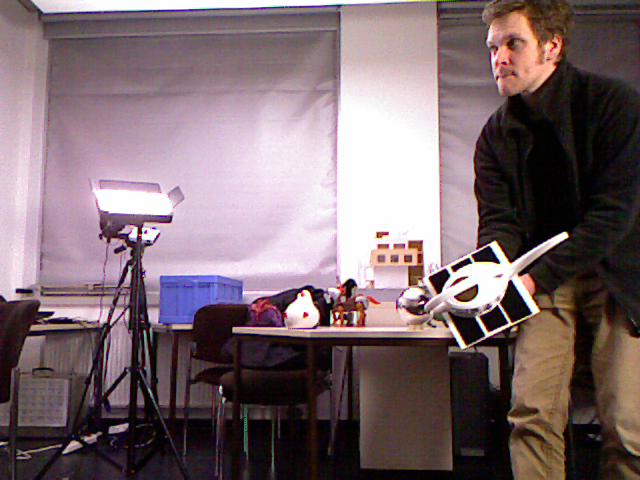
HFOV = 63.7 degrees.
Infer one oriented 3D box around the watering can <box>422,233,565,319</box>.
[{"bbox_3d":[0.405,0.097,1.213,0.347,0.106,0.222,-28,-21,9],"label":"watering can"}]
